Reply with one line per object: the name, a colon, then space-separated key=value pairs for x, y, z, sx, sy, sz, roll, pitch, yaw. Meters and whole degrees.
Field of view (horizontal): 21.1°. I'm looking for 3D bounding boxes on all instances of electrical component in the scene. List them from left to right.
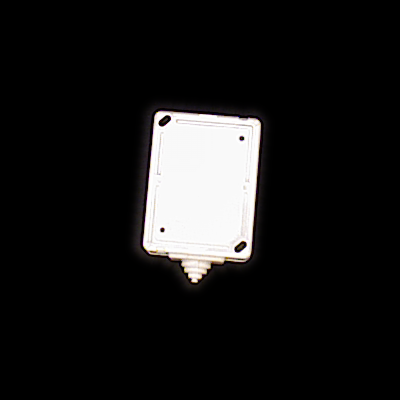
electrical component: x=0.000 y=0.000 z=0.629 sx=0.062 sy=0.096 sz=0.061 roll=5 pitch=-6 yaw=1
